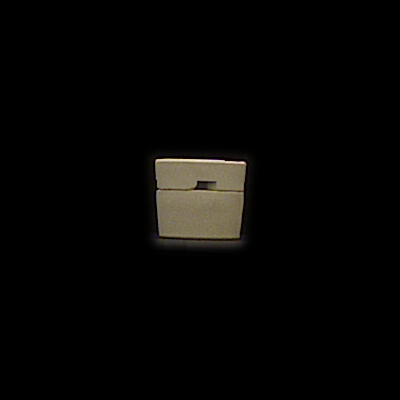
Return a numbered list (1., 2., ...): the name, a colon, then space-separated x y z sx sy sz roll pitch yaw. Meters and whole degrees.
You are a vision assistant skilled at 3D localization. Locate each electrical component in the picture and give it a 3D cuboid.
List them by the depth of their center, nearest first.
1. electrical component: 0.000 0.000 0.650 0.055 0.047 0.055 1 1 0
